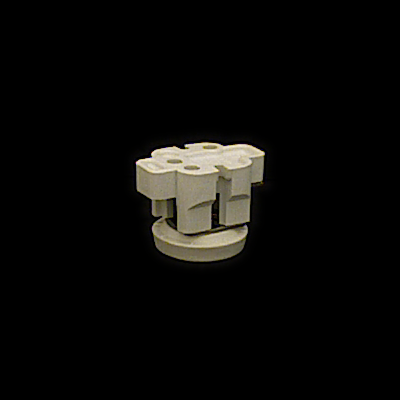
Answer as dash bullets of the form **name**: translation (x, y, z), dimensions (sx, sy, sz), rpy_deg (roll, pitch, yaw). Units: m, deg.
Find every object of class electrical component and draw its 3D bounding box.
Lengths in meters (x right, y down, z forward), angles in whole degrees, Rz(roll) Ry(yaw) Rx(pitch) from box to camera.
- **electrical component**: translation (0.000, 0.000, 0.648), dimensions (0.079, 0.057, 0.057), rpy_deg (-11, 24, -31)
